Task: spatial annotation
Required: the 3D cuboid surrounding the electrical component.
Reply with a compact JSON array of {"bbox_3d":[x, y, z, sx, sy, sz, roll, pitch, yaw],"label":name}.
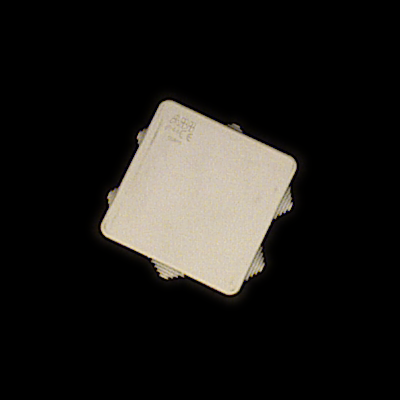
[{"bbox_3d":[0.000,0.000,0.642,0.099,0.100,0.048,26,-6,3],"label":"electrical component"}]
